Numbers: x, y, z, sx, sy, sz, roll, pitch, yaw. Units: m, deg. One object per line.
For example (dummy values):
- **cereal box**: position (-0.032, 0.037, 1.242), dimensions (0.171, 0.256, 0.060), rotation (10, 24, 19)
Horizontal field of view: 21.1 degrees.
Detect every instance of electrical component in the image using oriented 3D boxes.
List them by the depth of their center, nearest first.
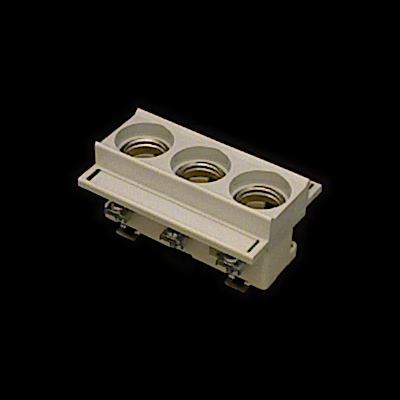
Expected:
- **electrical component**: position (0.000, 0.000, 0.644), dimensions (0.120, 0.064, 0.078), rotation (24, 46, 24)
